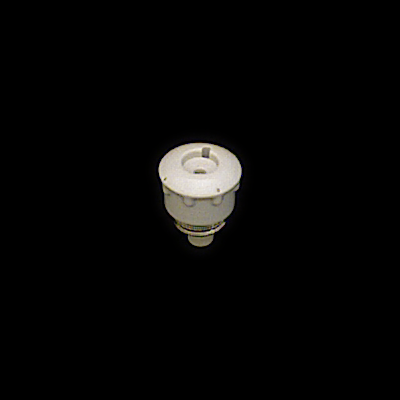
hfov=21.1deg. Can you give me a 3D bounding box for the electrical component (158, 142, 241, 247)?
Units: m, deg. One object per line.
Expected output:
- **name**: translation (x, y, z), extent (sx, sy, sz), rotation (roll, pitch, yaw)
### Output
- **electrical component**: translation (0.000, 0.000, 0.638), extent (0.048, 0.062, 0.047), rotation (1, 43, 0)
